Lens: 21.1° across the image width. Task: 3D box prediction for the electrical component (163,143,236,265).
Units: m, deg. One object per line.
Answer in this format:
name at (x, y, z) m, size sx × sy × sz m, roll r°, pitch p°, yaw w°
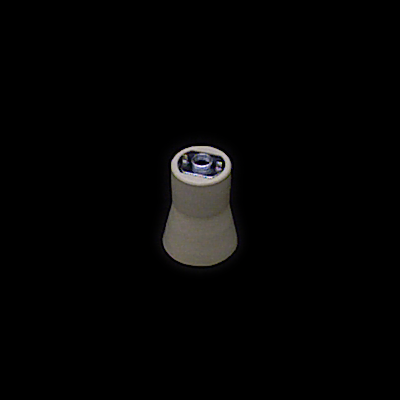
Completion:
electrical component at (0.000, 0.000, 0.628) m, size 0.044 × 0.066 × 0.044 m, roll 0°, pitch 43°, yaw 0°
